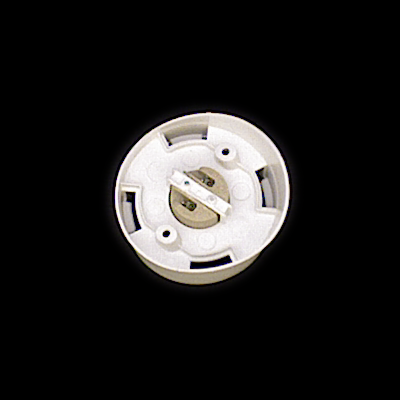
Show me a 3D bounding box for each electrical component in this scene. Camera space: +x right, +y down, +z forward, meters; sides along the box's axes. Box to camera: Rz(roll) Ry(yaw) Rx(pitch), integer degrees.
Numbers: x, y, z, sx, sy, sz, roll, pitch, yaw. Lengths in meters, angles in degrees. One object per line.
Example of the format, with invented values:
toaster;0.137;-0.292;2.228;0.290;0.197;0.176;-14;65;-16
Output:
electrical component;0.000;0.000;0.624;0.099;0.099;0.064;0;-17;-1
